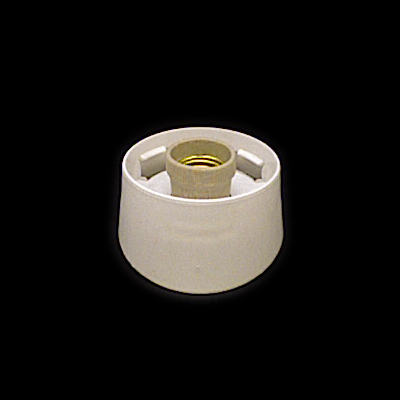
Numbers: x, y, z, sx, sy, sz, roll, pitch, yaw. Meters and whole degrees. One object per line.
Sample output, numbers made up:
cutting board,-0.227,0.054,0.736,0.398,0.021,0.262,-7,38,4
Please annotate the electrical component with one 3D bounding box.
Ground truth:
electrical component,0.000,0.000,0.634,0.099,0.065,0.097,1,32,0
